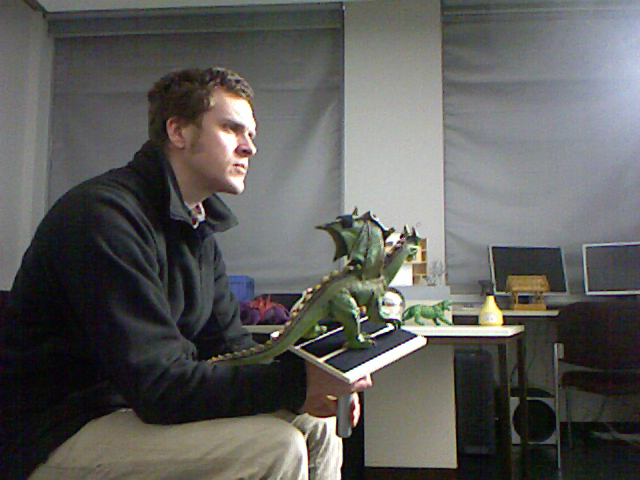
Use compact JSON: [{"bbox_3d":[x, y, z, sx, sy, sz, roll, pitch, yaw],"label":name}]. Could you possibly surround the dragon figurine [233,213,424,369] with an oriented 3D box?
[{"bbox_3d":[0.039,0.065,0.886,0.414,0.239,0.123,-14,27,-37],"label":"dragon figurine"}]
